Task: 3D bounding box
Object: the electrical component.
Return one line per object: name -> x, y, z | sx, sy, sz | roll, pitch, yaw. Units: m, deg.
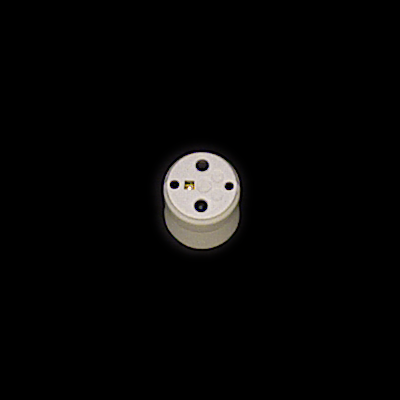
electrical component -> 0.000, 0.000, 0.629 | 0.045, 0.045, 0.055 | 0, -17, 0
